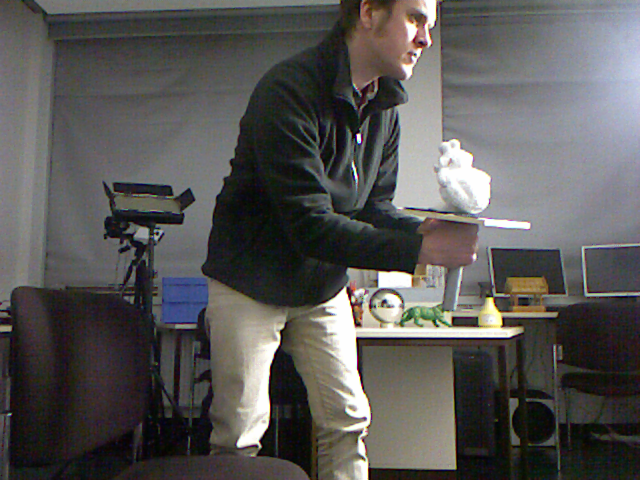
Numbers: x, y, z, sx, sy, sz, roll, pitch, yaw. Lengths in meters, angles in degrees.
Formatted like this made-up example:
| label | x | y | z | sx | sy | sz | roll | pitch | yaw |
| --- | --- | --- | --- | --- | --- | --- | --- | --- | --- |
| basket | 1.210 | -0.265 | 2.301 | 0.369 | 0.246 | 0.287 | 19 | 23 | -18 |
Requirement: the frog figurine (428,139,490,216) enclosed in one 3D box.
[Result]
| label | x | y | z | sx | sy | sz | roll | pitch | yaw |
| --- | --- | --- | --- | --- | --- | --- | --- | --- | --- |
| frog figurine | 0.303 | -0.134 | 1.104 | 0.138 | 0.158 | 0.124 | 0 | 14 | -22 |
